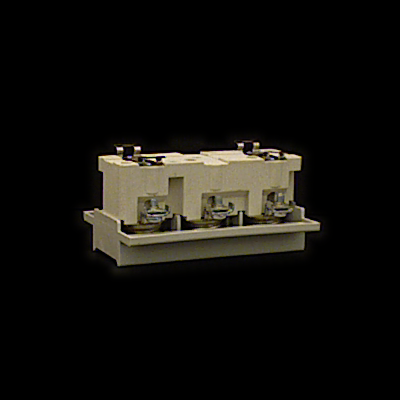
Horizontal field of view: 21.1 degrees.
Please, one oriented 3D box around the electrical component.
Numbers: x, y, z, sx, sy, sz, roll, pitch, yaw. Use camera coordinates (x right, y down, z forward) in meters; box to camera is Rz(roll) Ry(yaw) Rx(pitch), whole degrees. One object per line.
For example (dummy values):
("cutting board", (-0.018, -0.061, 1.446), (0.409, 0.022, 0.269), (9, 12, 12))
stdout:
("electrical component", (0.000, 0.000, 0.649), (0.122, 0.063, 0.077), (-4, 13, -25))
